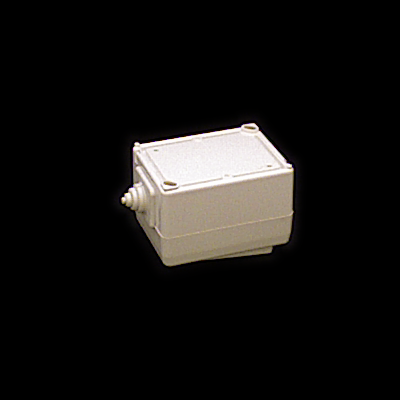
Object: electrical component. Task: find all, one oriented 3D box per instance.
[{"bbox_3d":[0.000,0.000,0.636,0.096,0.061,0.061,-11,33,-17],"label":"electrical component"}]
